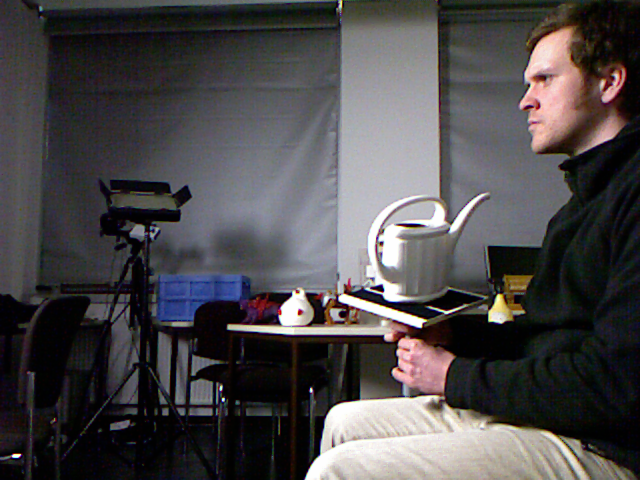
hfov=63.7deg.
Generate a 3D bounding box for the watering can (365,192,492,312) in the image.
[{"bbox_3d":[0.220,0.015,0.999,0.350,0.222,0.105,-10,19,-36],"label":"watering can"}]
